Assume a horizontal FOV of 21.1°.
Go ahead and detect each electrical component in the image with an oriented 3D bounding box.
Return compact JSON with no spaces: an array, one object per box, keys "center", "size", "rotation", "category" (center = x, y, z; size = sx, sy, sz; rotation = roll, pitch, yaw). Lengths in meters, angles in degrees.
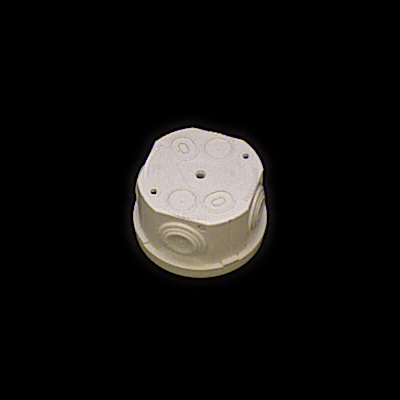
[{"center":[0.000,0.000,0.633],"size":[0.080,0.080,0.051],"rotation":[0,-38,-1],"category":"electrical component"}]
